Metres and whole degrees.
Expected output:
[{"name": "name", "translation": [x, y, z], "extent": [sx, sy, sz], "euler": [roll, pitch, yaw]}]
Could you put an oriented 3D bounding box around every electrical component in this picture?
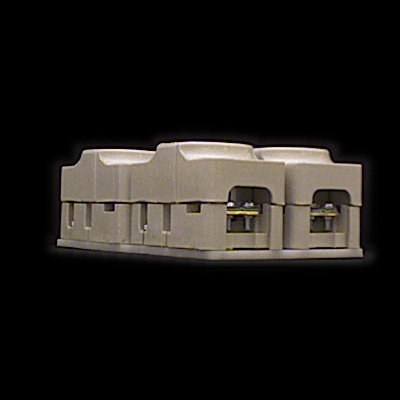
[{"name": "electrical component", "translation": [0.000, 0.000, 0.649], "extent": [0.106, 0.060, 0.185], "euler": [1, -1, -33]}]
